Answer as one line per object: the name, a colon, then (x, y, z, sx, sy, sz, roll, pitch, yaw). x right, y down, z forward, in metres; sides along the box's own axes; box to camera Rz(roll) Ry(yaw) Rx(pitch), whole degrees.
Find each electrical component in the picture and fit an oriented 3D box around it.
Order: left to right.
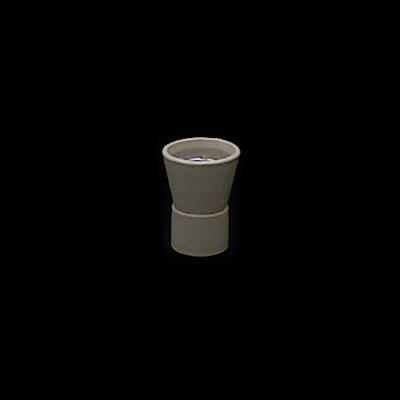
electrical component: (0.000, 0.000, 0.636, 0.044, 0.066, 0.044, 1, 22, 0)
